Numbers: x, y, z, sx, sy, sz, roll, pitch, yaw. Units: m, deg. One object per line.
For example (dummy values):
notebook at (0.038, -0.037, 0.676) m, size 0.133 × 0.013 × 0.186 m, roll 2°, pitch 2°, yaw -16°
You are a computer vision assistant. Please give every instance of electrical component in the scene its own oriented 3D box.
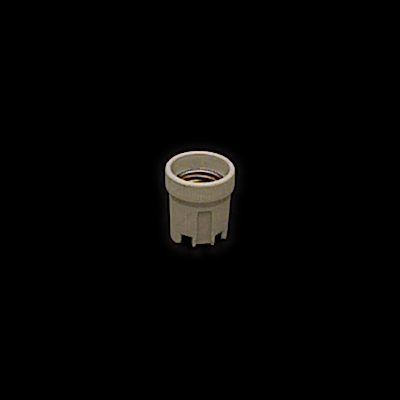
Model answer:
electrical component at (0.000, 0.000, 0.634) m, size 0.040 × 0.047 × 0.039 m, roll 1°, pitch 32°, yaw 0°
